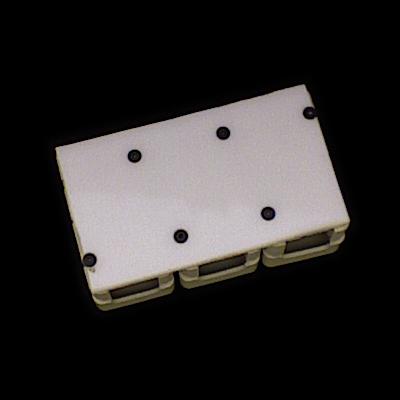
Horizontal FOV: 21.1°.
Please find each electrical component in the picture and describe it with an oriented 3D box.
[{"bbox_3d":[0.000,0.000,0.631,0.150,0.089,0.062,-14,-16,-4],"label":"electrical component"}]
